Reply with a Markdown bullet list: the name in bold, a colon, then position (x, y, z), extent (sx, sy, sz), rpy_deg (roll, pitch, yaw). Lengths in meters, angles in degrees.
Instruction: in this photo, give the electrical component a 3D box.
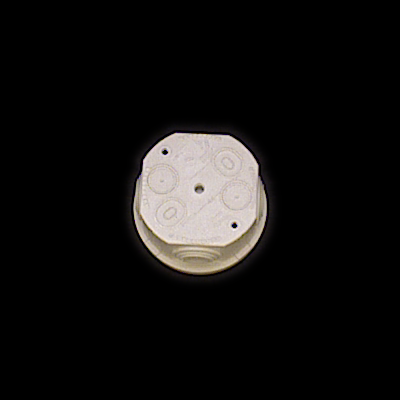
- **electrical component**: position (0.000, 0.000, 0.632), extent (0.080, 0.080, 0.050), rpy_deg (0, -18, 0)
